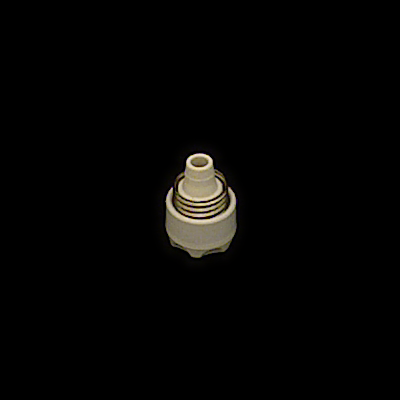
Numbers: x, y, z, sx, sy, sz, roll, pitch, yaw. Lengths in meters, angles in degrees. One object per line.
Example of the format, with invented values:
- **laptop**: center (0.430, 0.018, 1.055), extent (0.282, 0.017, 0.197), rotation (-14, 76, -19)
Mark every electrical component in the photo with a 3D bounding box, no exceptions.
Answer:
- **electrical component**: center (0.000, 0.000, 0.638), extent (0.043, 0.062, 0.043), rotation (0, 41, 1)
